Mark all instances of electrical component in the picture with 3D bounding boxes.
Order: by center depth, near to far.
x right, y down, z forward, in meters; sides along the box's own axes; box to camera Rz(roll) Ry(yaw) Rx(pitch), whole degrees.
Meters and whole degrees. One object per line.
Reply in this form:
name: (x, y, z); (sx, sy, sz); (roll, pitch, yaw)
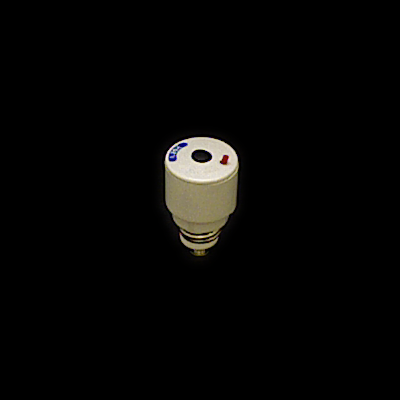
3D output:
electrical component: (0.000, 0.000, 0.623); (0.040, 0.079, 0.039); (1, 42, -1)
